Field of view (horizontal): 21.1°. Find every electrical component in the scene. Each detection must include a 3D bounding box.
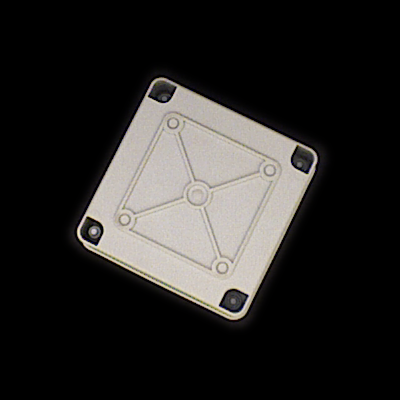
[{"bbox_3d":[0.000,0.000,0.628,0.109,0.109,0.056,26,-6,3],"label":"electrical component"}]
